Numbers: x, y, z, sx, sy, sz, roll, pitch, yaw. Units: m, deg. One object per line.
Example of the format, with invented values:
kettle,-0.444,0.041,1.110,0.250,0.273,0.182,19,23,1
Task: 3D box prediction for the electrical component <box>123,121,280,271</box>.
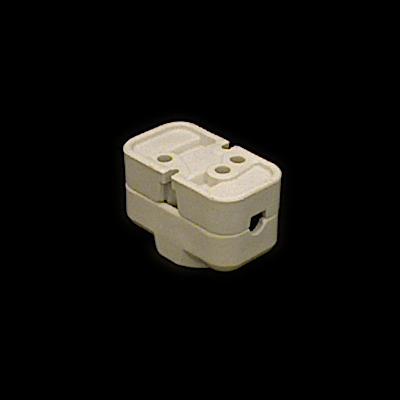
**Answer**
electrical component,0.000,0.000,0.644,0.054,0.060,0.093,-27,41,-36
